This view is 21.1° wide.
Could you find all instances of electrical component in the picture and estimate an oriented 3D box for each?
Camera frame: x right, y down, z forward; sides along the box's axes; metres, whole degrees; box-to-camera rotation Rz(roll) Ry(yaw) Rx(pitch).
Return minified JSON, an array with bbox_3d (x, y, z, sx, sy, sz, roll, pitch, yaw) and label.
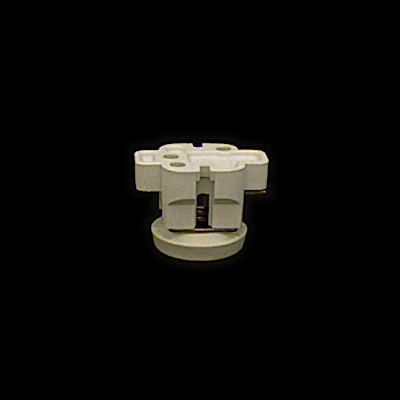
[{"bbox_3d":[0.000,0.000,0.648,0.079,0.057,0.057,0,21,-8],"label":"electrical component"}]
